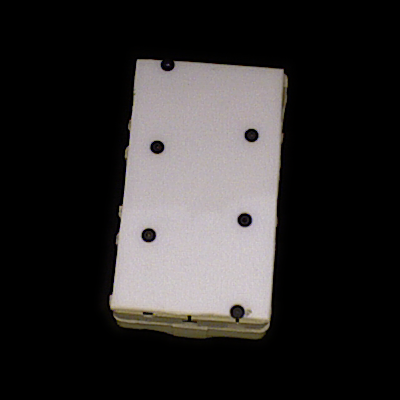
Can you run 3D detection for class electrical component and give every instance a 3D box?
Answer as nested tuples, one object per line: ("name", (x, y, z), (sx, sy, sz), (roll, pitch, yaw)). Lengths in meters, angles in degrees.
("electrical component", (0.000, 0.000, 0.631), (0.089, 0.150, 0.062), (5, -17, 1))
